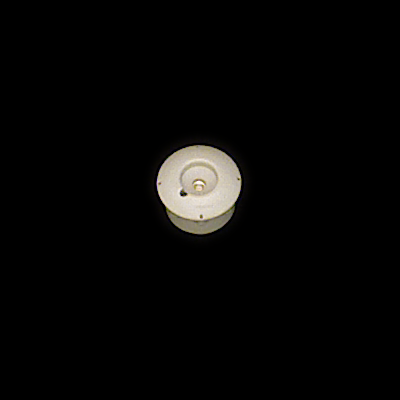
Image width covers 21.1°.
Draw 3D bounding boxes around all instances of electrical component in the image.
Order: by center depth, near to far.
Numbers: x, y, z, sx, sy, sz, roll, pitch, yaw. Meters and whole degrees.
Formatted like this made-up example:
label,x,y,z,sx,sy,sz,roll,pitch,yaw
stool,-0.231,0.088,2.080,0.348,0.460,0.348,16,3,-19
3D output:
label,x,y,z,sx,sy,sz,roll,pitch,yaw
electrical component,0.000,0.000,0.632,0.048,0.048,0.062,0,-27,0
